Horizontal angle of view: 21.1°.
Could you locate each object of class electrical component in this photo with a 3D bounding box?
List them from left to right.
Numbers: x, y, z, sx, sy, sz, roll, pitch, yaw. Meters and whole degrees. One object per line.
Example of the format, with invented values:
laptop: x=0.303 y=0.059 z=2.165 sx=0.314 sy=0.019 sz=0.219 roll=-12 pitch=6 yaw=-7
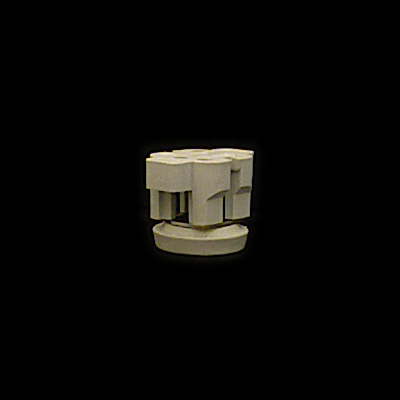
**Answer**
electrical component: x=0.000 y=0.000 z=0.653 sx=0.057 sy=0.057 sz=0.079 roll=9 pitch=12 yaw=37
